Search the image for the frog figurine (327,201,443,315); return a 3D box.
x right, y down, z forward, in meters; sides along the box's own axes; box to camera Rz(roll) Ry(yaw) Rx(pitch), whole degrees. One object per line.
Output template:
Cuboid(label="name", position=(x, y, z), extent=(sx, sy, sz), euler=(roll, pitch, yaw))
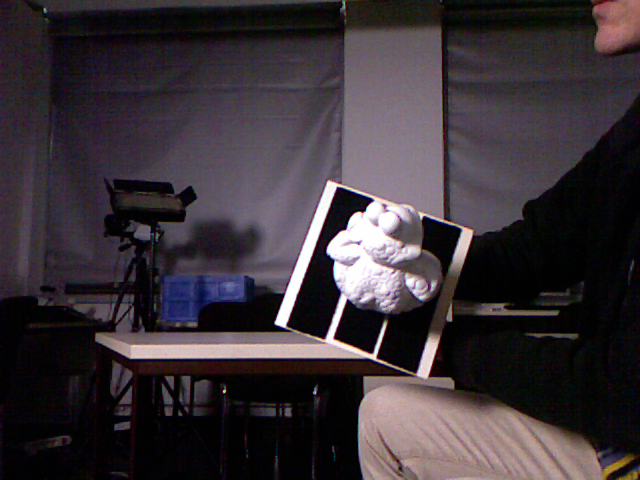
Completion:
Cuboid(label="frog figurine", position=(0.078, 0.024, 0.591), extent=(0.138, 0.124, 0.158), euler=(31, -8, 4))
